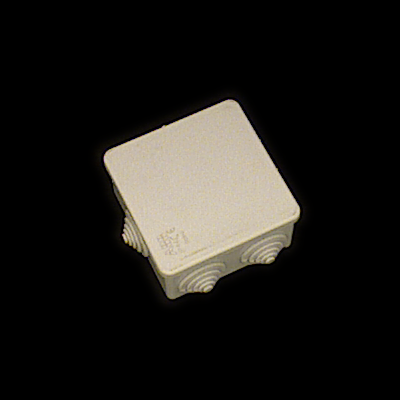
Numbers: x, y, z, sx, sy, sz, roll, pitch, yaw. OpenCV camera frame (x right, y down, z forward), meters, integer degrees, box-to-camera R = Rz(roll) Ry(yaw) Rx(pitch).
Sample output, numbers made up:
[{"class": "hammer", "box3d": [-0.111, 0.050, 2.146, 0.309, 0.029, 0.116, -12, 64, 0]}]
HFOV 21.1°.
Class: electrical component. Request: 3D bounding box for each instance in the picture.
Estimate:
[{"class": "electrical component", "box3d": [0.000, 0.000, 0.639, 0.100, 0.099, 0.048, -23, -24, -11]}]
